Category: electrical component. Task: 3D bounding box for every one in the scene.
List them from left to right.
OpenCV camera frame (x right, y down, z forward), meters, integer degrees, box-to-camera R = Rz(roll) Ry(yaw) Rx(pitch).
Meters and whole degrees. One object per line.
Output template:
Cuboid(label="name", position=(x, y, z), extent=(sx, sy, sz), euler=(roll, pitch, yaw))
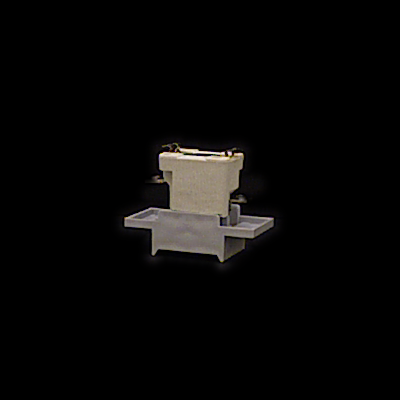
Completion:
Cuboid(label="electrical component", position=(0.000, 0.000, 0.644), extent=(0.081, 0.064, 0.042), euler=(5, 11, 19))
